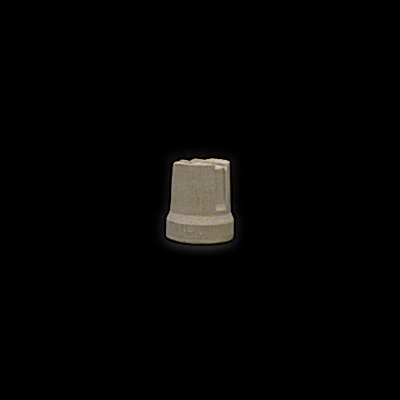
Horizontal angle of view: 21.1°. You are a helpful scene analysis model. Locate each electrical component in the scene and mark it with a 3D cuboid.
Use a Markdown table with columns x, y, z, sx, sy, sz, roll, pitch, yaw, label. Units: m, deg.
| x | y | z | sx | sy | sz | roll | pitch | yaw | label |
| --- | --- | --- | --- | --- | --- | --- | --- | --- | --- |
| 0.000 | 0.000 | 0.647 | 0.040 | 0.046 | 0.040 | 2 | 11 | 0 | electrical component |
